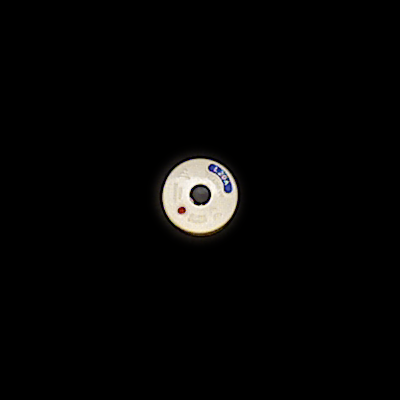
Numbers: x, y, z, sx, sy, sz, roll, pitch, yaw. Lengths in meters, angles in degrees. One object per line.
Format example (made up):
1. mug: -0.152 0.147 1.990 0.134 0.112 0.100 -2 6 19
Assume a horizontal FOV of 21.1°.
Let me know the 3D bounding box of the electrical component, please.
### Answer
1. electrical component: 0.000 0.000 0.617 0.040 0.040 0.078 0 -5 1
